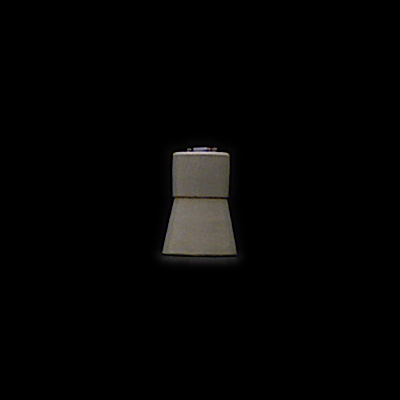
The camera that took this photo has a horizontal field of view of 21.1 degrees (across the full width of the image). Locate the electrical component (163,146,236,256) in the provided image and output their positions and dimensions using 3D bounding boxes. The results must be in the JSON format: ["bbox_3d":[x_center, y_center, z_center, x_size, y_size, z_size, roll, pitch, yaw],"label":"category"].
[{"bbox_3d":[0.000,0.000,0.649,0.044,0.065,0.044,1,2,0],"label":"electrical component"}]
